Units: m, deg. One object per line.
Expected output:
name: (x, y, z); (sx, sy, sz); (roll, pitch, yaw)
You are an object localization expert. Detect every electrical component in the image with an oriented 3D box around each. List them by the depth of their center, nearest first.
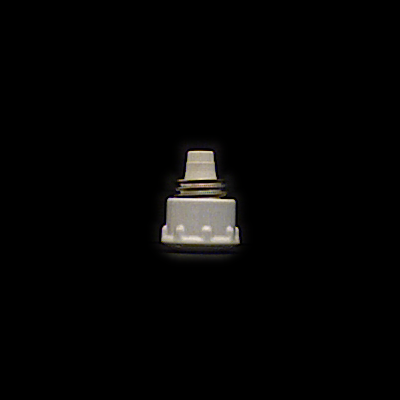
electrical component: (0.000, 0.000, 0.655); (0.048, 0.062, 0.048); (0, 2, 1)
